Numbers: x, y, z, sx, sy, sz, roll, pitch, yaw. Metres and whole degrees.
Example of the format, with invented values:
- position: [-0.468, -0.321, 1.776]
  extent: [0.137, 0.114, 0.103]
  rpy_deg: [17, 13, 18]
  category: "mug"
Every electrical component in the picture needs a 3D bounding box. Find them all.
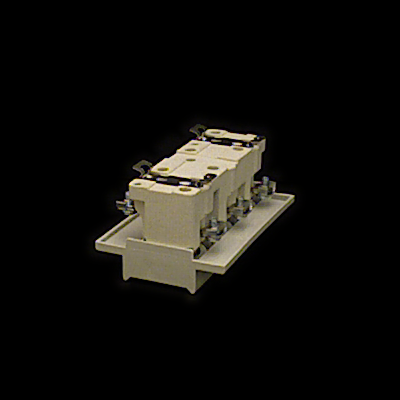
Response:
- position: [0.000, 0.000, 0.645]
  extent: [0.078, 0.064, 0.120]
  rpy_deg: [10, 23, 20]
  category: "electrical component"
